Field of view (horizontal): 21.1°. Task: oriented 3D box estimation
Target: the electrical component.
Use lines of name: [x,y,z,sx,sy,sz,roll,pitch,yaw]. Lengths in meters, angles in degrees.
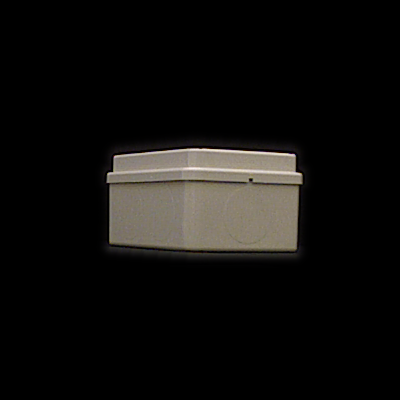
electrical component: [0.000,0.000,0.650,0.078,0.057,0.113,1,0,-30]
